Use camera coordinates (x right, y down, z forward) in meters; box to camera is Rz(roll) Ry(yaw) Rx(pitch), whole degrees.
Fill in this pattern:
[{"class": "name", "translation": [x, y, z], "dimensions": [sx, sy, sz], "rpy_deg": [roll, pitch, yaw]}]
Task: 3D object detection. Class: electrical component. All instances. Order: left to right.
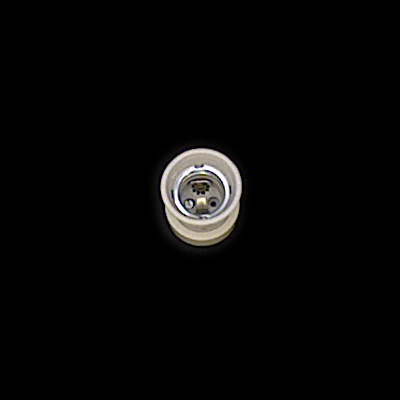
[{"class": "electrical component", "translation": [0.000, 0.000, 0.628], "dimensions": [0.045, 0.045, 0.055], "rpy_deg": [0, -17, 0]}]
